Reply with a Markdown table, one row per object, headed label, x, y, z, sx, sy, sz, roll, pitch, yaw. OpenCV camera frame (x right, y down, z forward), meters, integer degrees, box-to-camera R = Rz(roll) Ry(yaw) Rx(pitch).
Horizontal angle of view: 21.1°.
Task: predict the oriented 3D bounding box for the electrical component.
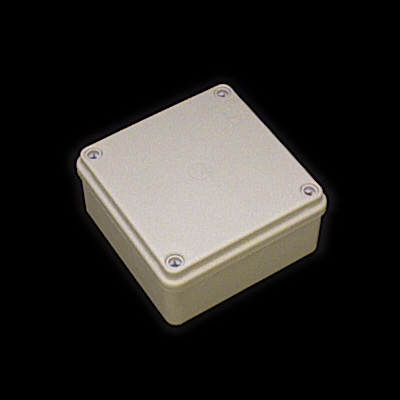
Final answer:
| label | x | y | z | sx | sy | sz | roll | pitch | yaw |
| --- | --- | --- | --- | --- | --- | --- | --- | --- | --- |
| electrical component | 0.000 | 0.000 | 0.629 | 0.109 | 0.108 | 0.056 | -27 | -33 | -19 |
